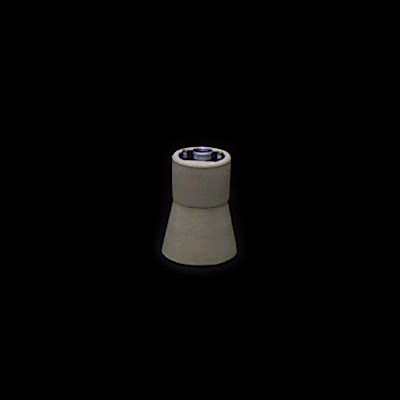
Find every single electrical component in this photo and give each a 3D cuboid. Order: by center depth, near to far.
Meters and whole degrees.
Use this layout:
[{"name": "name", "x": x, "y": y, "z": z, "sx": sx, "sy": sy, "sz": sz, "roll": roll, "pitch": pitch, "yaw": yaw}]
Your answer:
[{"name": "electrical component", "x": 0.000, "y": 0.000, "z": 0.636, "sx": 0.044, "sy": 0.066, "sz": 0.044, "roll": 1, "pitch": 22, "yaw": 0}]
